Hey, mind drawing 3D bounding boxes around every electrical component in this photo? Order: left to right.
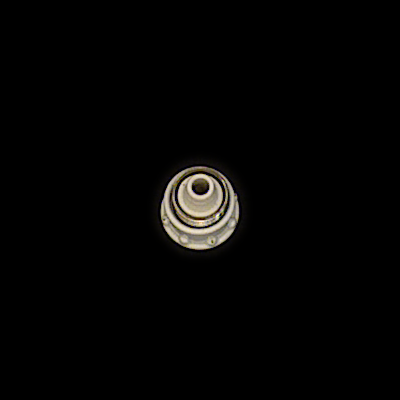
[{"bbox_3d":[0.000,0.000,0.634,0.048,0.048,0.061,0,-16,-1],"label":"electrical component"}]
